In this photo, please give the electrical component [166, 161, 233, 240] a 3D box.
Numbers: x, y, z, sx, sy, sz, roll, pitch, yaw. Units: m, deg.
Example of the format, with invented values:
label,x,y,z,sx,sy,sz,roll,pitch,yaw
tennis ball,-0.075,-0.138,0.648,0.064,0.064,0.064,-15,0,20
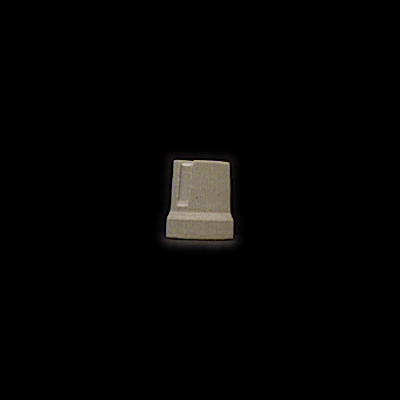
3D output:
label,x,y,z,sx,sy,sz,roll,pitch,yaw
electrical component,0.000,0.000,0.650,0.040,0.046,0.040,1,2,0
